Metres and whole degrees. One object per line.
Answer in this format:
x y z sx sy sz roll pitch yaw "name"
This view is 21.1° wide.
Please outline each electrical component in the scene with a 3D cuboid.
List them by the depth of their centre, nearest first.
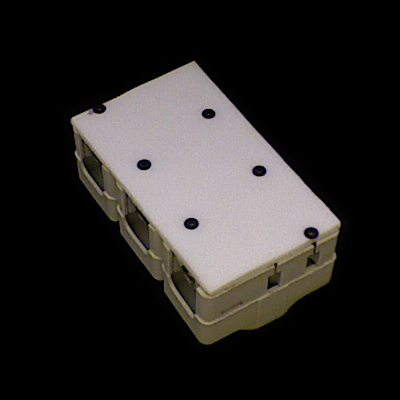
0.000 0.000 0.632 0.089 0.148 0.062 -27 -32 -19 "electrical component"
